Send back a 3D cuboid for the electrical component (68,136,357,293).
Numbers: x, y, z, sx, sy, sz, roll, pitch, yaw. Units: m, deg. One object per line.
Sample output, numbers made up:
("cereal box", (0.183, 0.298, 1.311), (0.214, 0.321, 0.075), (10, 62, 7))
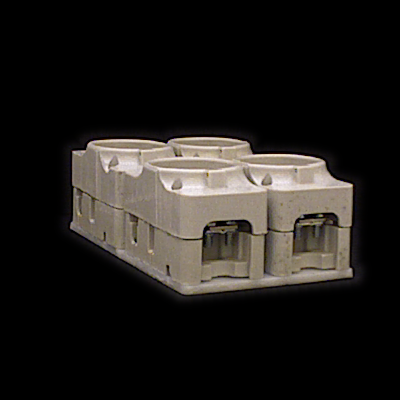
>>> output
("electrical component", (0.000, 0.000, 0.644), (0.105, 0.061, 0.184), (-3, 11, -25))
